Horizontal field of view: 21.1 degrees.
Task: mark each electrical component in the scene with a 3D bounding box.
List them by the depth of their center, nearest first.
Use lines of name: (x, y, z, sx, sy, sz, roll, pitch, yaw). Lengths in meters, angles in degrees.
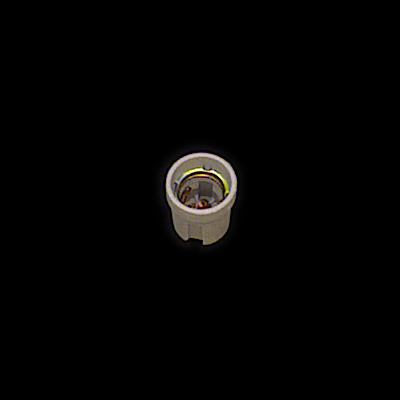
electrical component: (0.000, 0.000, 0.629, 0.040, 0.040, 0.046, 0, -28, 0)
